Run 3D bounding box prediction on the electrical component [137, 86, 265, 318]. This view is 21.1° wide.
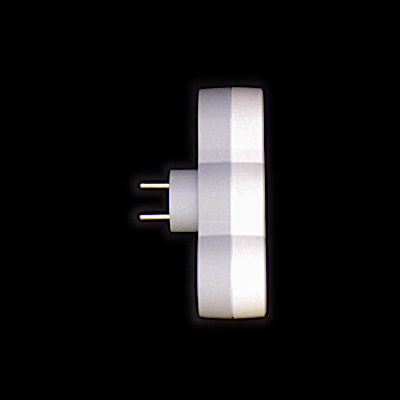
[{"bbox_3d":[0.000,0.000,0.629,0.074,0.139,0.052,-1,-16,2],"label":"electrical component"}]
